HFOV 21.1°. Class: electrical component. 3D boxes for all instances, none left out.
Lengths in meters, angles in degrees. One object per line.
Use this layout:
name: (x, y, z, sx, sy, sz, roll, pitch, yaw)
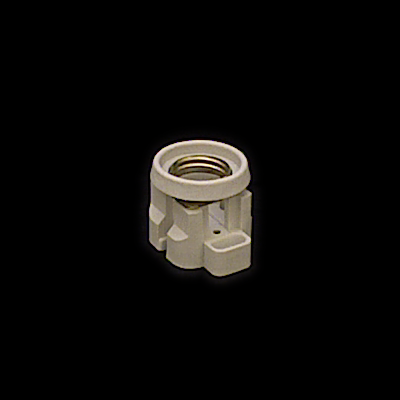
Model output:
electrical component: (0.000, 0.000, 0.636, 0.058, 0.057, 0.077, -18, 36, -28)
